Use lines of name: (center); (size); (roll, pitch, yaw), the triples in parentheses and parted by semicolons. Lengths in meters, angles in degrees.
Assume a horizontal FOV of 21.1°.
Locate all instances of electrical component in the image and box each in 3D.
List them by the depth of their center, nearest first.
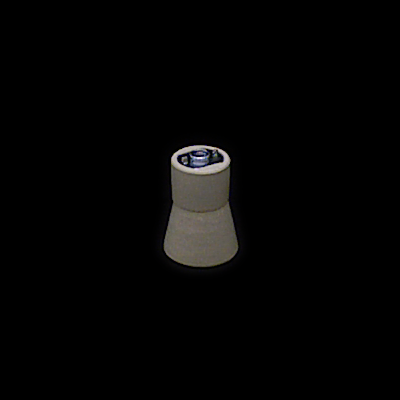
electrical component: (0.000, 0.000, 0.635); (0.044, 0.066, 0.044); (0, 31, 0)
